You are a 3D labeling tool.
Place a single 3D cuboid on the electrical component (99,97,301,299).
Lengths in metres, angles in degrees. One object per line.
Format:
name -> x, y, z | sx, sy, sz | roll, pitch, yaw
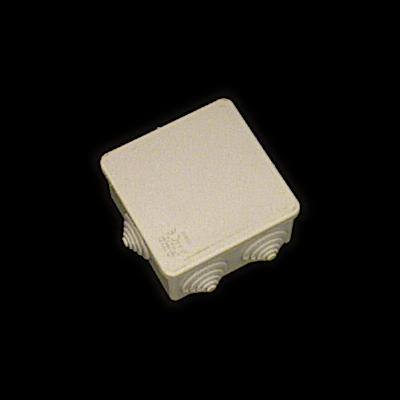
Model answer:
electrical component -> 0.000, 0.000, 0.639 | 0.100, 0.099, 0.048 | -26, -23, -13
